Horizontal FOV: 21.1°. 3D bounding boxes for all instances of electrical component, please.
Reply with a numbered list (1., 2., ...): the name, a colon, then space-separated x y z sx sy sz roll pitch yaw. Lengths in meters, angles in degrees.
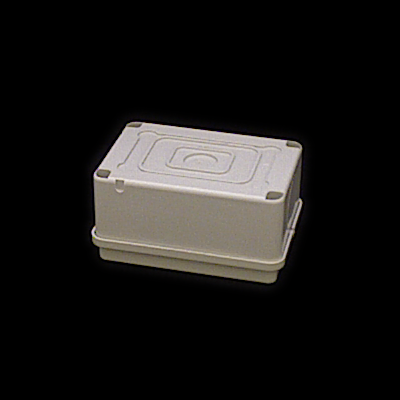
1. electrical component: 0.000 0.000 0.635 0.113 0.058 0.077 8 32 11
